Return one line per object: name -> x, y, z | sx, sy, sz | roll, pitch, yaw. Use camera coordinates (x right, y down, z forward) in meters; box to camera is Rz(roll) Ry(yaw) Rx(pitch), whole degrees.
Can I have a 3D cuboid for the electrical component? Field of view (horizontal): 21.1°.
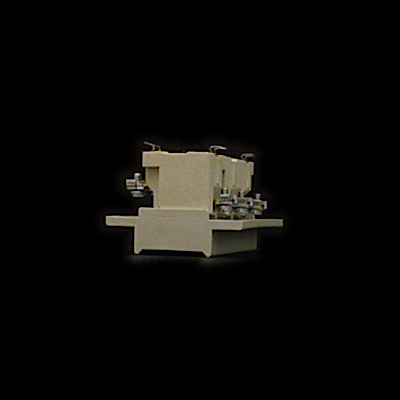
electrical component -> 0.000, 0.000, 0.657 | 0.078, 0.063, 0.121 | 2, 1, 15
